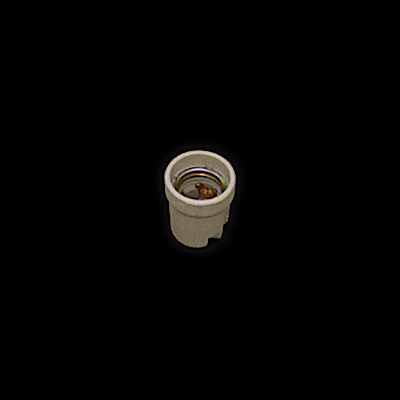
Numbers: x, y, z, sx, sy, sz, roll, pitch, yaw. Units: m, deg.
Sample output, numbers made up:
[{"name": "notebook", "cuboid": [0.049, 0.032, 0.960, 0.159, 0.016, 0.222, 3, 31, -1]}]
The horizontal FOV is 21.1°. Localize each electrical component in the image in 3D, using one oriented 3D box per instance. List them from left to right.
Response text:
[{"name": "electrical component", "cuboid": [0.000, 0.000, 0.630, 0.040, 0.040, 0.046, 0, -38, -1]}]
